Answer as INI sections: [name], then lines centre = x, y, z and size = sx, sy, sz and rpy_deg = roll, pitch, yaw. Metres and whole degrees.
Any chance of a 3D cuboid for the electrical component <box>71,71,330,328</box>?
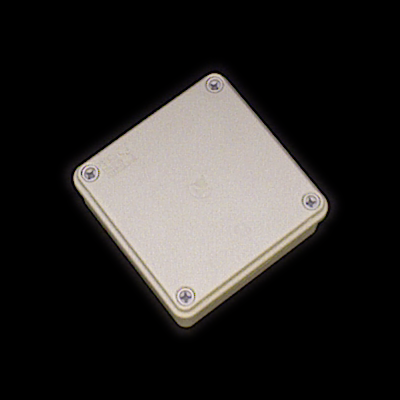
[electrical component]
centre = 0.000, 0.000, 0.629
size = 0.109, 0.109, 0.056
rpy_deg = -36, -13, -11
